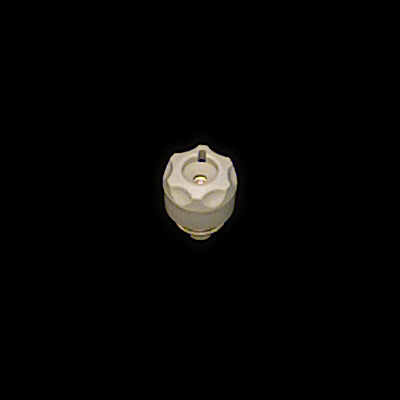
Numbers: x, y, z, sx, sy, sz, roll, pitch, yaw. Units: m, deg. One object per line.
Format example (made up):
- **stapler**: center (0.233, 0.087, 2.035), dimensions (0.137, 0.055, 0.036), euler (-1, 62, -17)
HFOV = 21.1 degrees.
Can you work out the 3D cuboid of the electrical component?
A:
- **electrical component**: center (0.000, 0.000, 0.635), dimensions (0.043, 0.043, 0.062), euler (0, -36, 0)
